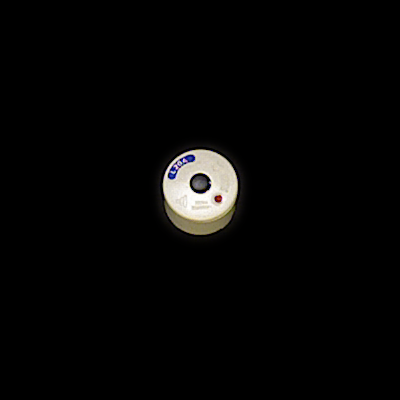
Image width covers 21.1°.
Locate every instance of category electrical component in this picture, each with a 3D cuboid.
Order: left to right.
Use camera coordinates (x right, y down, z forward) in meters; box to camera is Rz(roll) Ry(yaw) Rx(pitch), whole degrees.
[{"bbox_3d":[0.000,0.000,0.616,0.040,0.040,0.078,0,-16,-1],"label":"electrical component"}]
